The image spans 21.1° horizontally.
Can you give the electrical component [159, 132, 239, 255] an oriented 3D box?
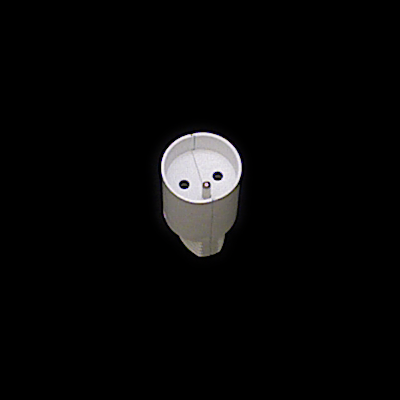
[{"bbox_3d":[0.000,0.000,0.616,0.043,0.043,0.081,0,-26,0],"label":"electrical component"}]
